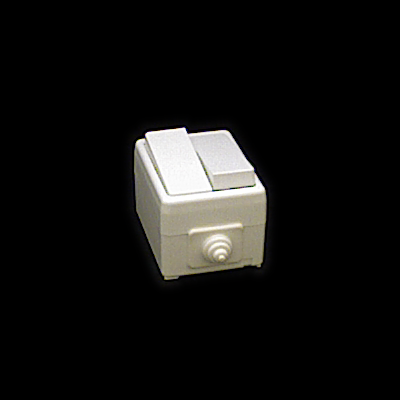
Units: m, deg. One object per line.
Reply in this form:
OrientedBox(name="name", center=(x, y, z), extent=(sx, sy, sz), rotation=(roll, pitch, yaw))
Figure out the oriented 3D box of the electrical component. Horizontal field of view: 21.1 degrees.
OrientedBox(name="electrical component", center=(0.000, 0.000, 0.632), extent=(0.062, 0.061, 0.095), rotation=(-7, 32, -13))
